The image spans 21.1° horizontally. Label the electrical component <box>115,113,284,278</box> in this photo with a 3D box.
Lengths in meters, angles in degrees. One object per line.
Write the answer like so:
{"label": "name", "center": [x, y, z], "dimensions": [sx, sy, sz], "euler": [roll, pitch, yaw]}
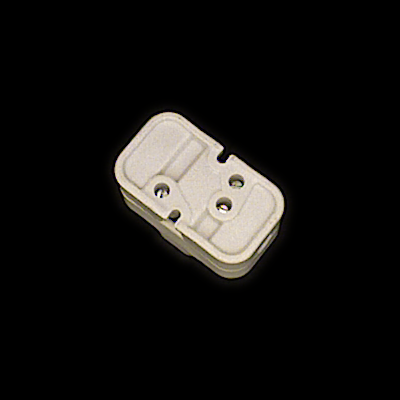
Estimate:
{"label": "electrical component", "center": [0.000, 0.000, 0.636], "dimensions": [0.095, 0.054, 0.059], "euler": [37, -12, 10]}
